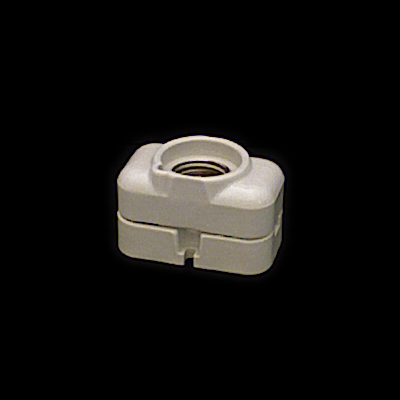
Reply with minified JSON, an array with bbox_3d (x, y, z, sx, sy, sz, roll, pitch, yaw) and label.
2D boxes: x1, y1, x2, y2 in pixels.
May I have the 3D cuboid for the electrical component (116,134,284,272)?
[{"bbox_3d":[0.000,0.000,0.640,0.095,0.060,0.053,8,33,12],"label":"electrical component"}]
